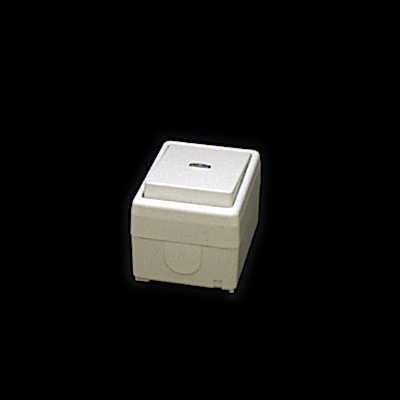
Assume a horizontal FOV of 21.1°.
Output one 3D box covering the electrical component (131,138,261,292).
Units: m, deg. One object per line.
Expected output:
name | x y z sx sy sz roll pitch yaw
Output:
electrical component | 0.000 0.000 0.636 0.061 0.062 0.095 7 31 10
